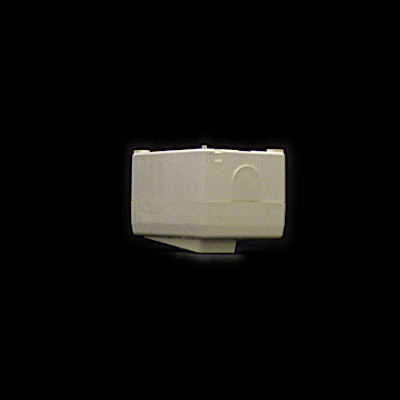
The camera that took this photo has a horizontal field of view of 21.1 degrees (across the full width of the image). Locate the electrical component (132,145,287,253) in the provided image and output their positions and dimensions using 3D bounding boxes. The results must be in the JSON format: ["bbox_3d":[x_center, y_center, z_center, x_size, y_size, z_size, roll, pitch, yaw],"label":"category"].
[{"bbox_3d":[0.001,0.000,0.655,0.062,0.061,0.095,0,1,-35],"label":"electrical component"}]
